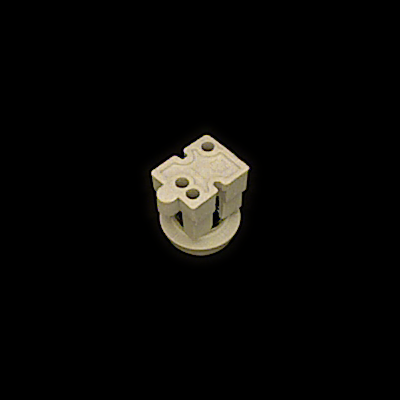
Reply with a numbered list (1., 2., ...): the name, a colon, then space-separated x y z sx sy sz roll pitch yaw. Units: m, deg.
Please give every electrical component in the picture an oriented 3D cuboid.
1. electrical component: 0.000 0.000 0.637 0.067 0.055 0.048 -36 60 -25
